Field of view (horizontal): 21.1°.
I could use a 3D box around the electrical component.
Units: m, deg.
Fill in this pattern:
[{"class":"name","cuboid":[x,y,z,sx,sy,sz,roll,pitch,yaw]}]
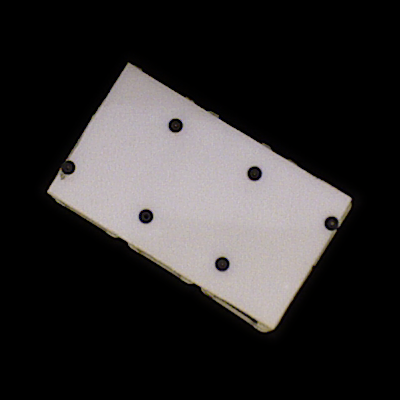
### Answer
[{"class":"electrical component","cuboid":[0.000,0.000,0.631,0.150,0.089,0.061,32,-5,3]}]
